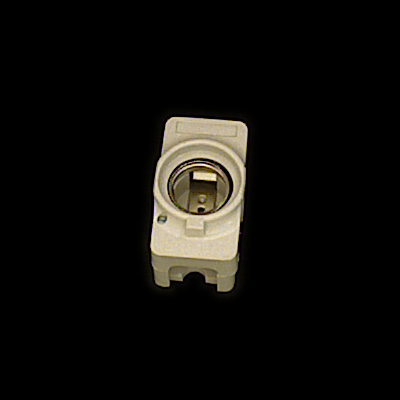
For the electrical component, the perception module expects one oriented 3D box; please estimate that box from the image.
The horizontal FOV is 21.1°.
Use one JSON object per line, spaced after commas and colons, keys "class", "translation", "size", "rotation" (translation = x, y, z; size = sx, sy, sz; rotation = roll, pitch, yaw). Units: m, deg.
{"class": "electrical component", "translation": [0.000, 0.000, 0.636], "size": [0.050, 0.090, 0.055], "rotation": [4, -27, 3]}
